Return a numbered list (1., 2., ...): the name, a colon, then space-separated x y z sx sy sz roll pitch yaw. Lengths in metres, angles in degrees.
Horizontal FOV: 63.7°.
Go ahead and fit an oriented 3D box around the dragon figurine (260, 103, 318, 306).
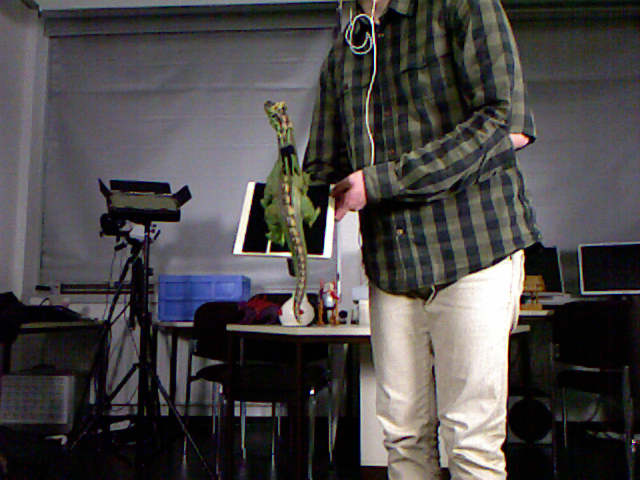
1. dragon figurine: -0.063 -0.103 1.000 0.122 0.420 0.238 -10 -32 -5
